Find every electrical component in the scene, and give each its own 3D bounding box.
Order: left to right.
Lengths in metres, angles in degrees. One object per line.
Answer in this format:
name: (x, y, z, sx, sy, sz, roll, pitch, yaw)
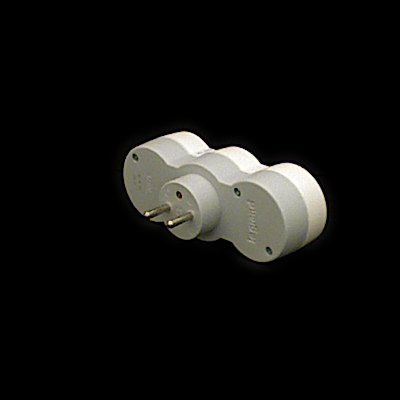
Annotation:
electrical component: (0.000, 0.000, 0.646, 0.136, 0.053, 0.074, 20, 30, 39)
